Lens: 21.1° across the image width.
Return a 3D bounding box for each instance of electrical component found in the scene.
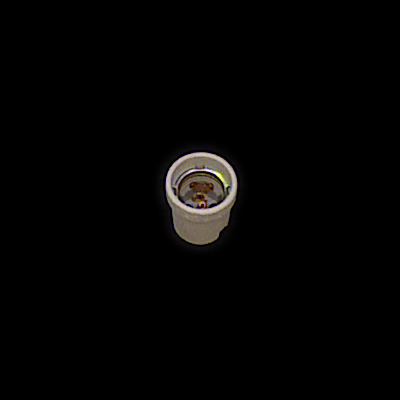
[{"bbox_3d":[0.000,0.000,0.627,0.040,0.040,0.046,0,-27,-1],"label":"electrical component"}]
